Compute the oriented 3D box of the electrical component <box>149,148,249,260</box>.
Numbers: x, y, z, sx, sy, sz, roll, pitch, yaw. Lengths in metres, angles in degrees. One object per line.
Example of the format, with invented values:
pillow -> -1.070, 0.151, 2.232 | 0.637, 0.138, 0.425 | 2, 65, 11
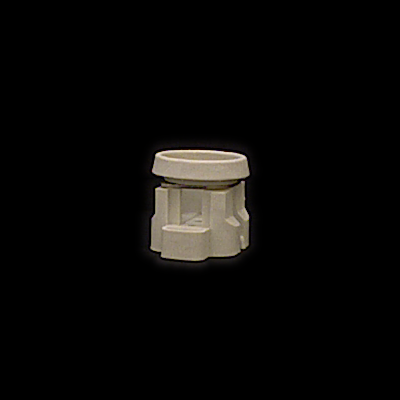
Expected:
electrical component -> 0.000, 0.000, 0.646 | 0.057, 0.057, 0.078 | 4, 11, 17
